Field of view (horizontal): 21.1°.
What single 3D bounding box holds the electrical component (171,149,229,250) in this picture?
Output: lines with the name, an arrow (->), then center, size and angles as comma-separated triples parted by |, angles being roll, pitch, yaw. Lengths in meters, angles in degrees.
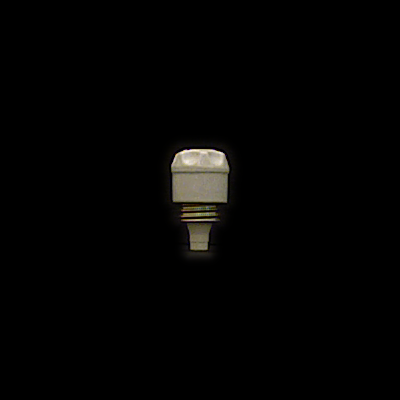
electrical component -> 0.000, 0.000, 0.656 | 0.035, 0.061, 0.035 | 1, 1, 1
